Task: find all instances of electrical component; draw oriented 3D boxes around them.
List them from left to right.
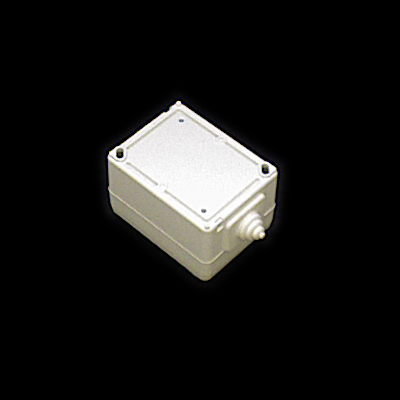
[{"bbox_3d":[0.000,0.000,0.626,0.096,0.061,0.061,36,59,25],"label":"electrical component"}]
